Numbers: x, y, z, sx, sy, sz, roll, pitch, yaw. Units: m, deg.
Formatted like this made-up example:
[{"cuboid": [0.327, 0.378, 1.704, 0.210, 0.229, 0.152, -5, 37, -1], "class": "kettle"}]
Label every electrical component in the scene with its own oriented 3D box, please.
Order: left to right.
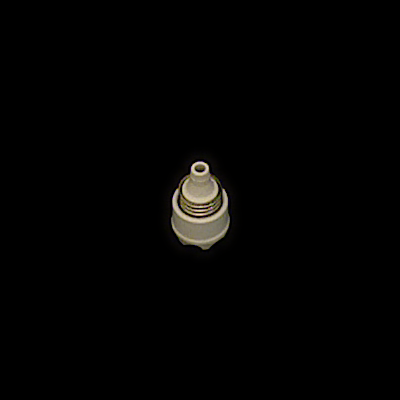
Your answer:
[{"cuboid": [0.000, 0.000, 0.639, 0.035, 0.035, 0.062, 0, -39, 0], "class": "electrical component"}]
